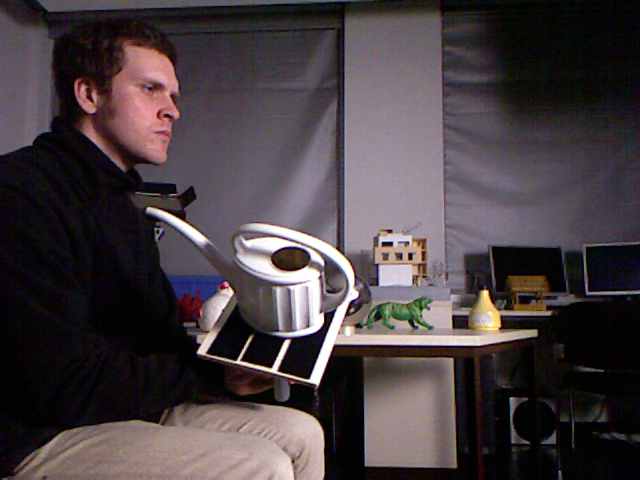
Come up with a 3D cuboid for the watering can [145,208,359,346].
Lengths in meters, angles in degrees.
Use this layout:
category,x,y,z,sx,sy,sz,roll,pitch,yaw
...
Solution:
category,x,y,z,sx,sy,sz,roll,pitch,yaw
watering can,-0.107,0.054,0.831,0.349,0.219,0.107,13,42,14
